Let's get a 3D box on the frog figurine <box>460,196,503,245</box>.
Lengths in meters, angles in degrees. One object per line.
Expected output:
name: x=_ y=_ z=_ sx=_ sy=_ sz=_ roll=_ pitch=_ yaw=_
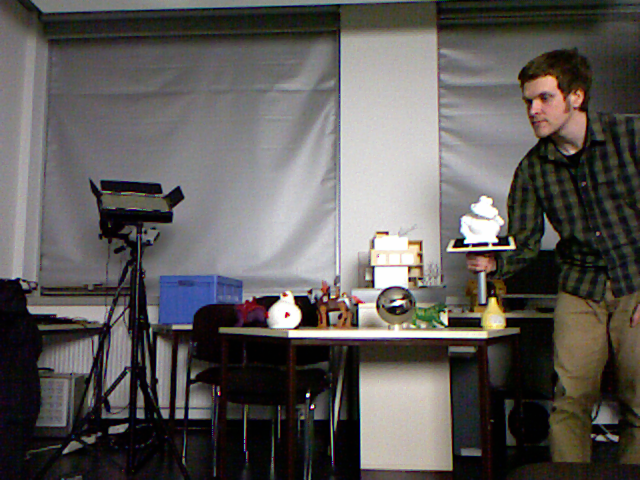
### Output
frog figurine: x=0.538 y=-0.071 z=1.721 sx=0.137 sy=0.158 sz=0.124 roll=2 pitch=13 yaw=36
